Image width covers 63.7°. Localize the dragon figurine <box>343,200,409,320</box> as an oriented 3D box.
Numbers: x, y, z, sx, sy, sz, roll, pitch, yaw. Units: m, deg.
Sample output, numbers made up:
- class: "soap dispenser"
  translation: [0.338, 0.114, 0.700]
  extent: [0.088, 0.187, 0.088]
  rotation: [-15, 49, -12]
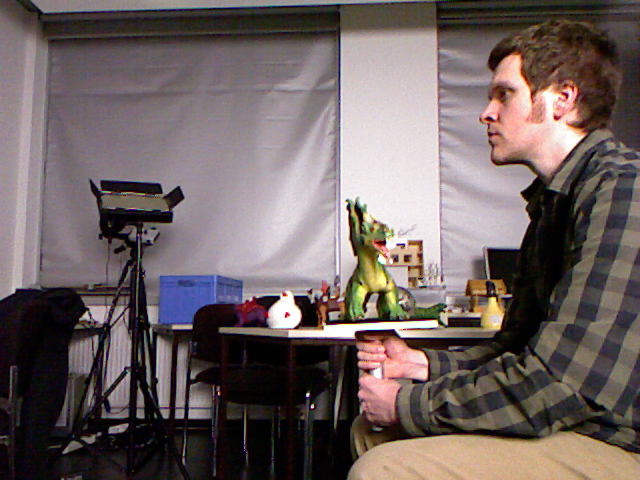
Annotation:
- class: "dragon figurine"
  translation: [0.087, 0.038, 1.030]
  extent: [0.122, 0.244, 0.408]
  rotation: [-7, -4, -8]
